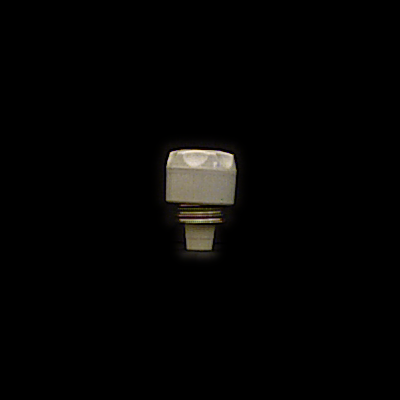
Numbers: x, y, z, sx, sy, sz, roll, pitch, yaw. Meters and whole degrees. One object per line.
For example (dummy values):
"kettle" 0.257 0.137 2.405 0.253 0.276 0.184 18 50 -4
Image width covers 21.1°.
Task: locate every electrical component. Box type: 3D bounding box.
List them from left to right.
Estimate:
"electrical component" 0.000 0.000 0.656 0.043 0.062 0.043 2 2 0
